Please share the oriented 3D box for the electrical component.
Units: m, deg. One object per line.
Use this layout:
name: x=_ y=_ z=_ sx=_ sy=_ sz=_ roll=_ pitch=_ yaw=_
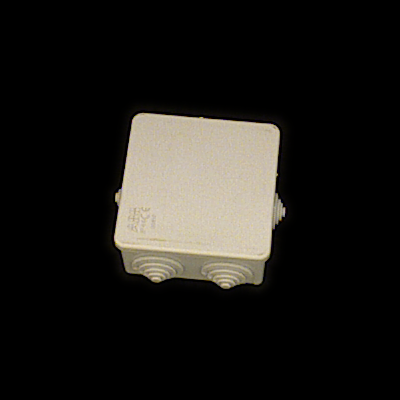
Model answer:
electrical component: x=0.000 y=0.000 z=0.639 sx=0.100 sy=0.100 sz=0.048 roll=5 pitch=-26 yaw=2
